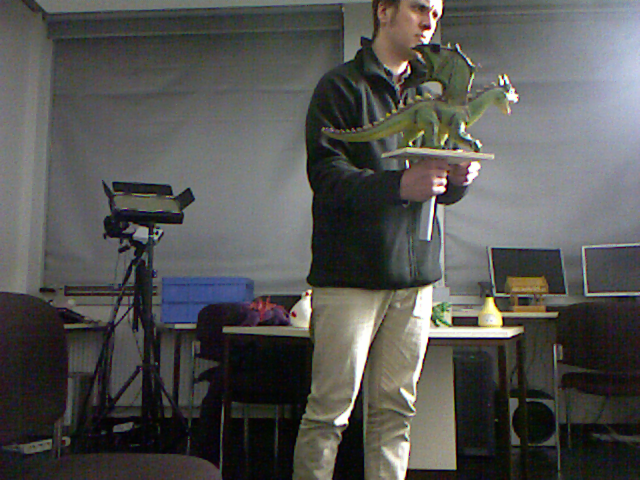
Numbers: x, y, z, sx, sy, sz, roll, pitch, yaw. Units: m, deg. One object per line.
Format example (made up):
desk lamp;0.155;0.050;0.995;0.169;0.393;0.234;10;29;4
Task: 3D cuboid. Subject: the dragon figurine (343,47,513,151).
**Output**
dragon figurine;0.269;-0.334;1.227;0.410;0.241;0.123;5;9;-8
